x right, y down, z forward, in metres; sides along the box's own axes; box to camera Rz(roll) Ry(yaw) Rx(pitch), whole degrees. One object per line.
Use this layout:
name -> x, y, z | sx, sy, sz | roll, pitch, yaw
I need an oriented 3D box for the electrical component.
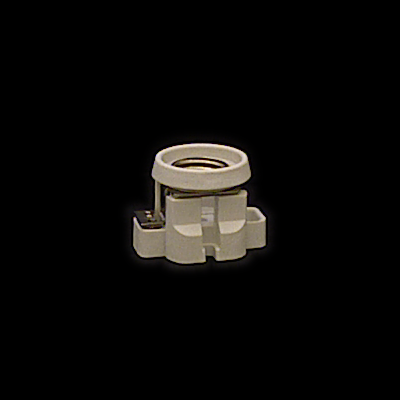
electrical component -> 0.000, 0.000, 0.638 | 0.079, 0.057, 0.057 | -5, 22, -14
